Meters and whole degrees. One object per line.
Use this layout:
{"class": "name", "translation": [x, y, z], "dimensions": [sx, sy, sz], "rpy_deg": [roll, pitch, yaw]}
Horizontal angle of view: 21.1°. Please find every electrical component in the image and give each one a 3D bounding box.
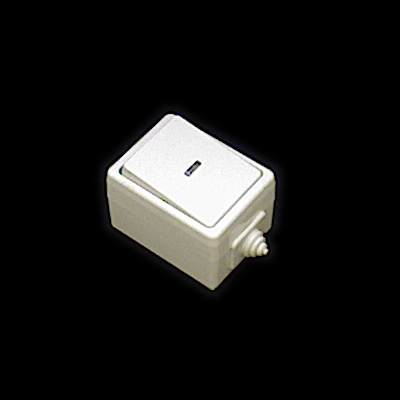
{"class": "electrical component", "translation": [0.000, 0.000, 0.627], "dimensions": [0.096, 0.062, 0.061], "rpy_deg": [31, -32, 21]}
